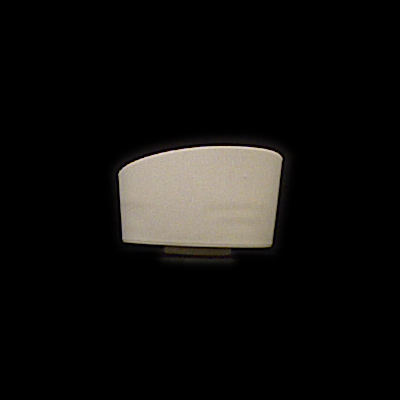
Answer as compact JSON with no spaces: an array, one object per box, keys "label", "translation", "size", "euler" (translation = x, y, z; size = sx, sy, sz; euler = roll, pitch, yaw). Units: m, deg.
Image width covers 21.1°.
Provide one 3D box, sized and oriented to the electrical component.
[{"label":"electrical component","translation":[0.000,0.000,0.649],"size":[0.099,0.064,0.099],"euler":[2,0,0]}]
